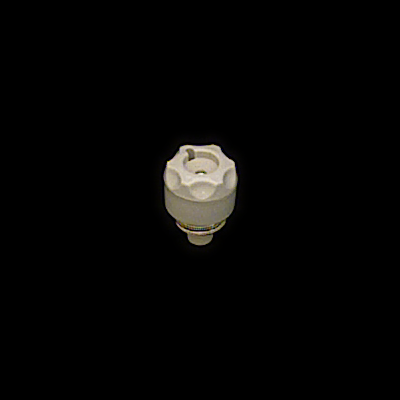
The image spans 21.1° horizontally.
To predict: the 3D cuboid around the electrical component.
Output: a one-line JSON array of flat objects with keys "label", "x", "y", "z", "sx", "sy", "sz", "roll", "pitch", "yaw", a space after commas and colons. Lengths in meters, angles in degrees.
[{"label": "electrical component", "x": 0.000, "y": 0.000, "z": 0.638, "sx": 0.043, "sy": 0.062, "sz": 0.043, "roll": 1, "pitch": 43, "yaw": 0}]
